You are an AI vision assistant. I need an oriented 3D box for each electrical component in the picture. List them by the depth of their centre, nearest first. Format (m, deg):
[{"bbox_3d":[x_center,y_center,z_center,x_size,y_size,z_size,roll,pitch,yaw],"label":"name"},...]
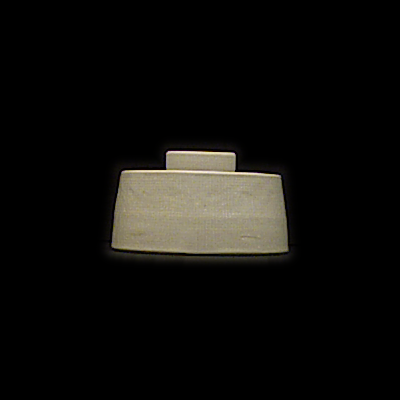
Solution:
[{"bbox_3d":[0.000,0.000,0.658,0.108,0.060,0.108,1,1,1],"label":"electrical component"}]
